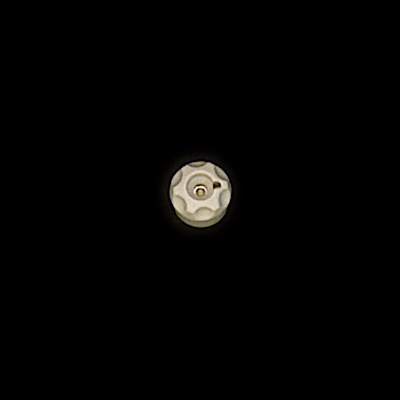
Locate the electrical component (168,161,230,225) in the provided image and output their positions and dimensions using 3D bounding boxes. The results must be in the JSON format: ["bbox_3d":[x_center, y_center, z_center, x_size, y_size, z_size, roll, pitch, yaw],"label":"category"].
[{"bbox_3d":[0.000,0.000,0.633,0.035,0.035,0.061,0,-15,1],"label":"electrical component"}]
